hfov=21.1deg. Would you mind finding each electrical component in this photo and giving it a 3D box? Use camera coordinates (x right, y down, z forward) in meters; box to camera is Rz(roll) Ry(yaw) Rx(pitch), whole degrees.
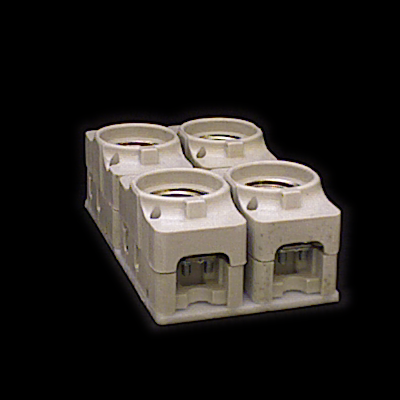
[{"bbox_3d":[0.000,0.000,0.639,0.105,0.061,0.184,-5,22,-17],"label":"electrical component"}]
